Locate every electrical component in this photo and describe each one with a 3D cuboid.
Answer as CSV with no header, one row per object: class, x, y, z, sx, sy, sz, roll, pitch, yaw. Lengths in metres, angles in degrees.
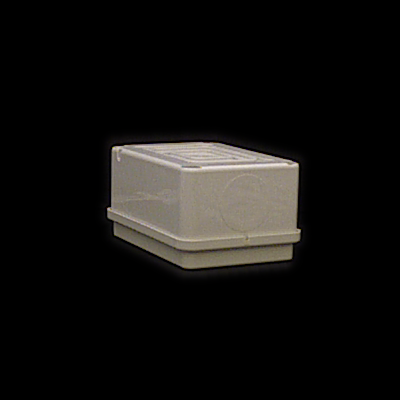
electrical component,0.000,0.000,0.644,0.078,0.057,0.112,-4,12,-27
